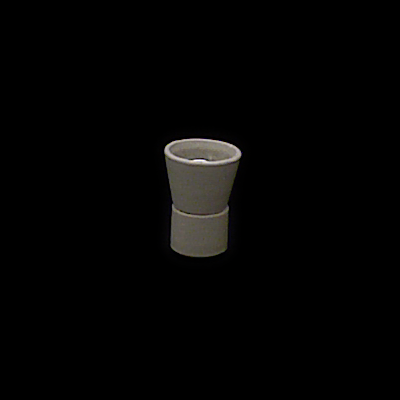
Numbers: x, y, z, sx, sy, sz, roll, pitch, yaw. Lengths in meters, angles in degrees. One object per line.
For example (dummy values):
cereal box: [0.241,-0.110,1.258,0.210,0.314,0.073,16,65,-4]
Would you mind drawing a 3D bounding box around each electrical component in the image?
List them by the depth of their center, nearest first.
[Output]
electrical component: [0.000,0.000,0.638,0.044,0.066,0.044,2,21,-1]
